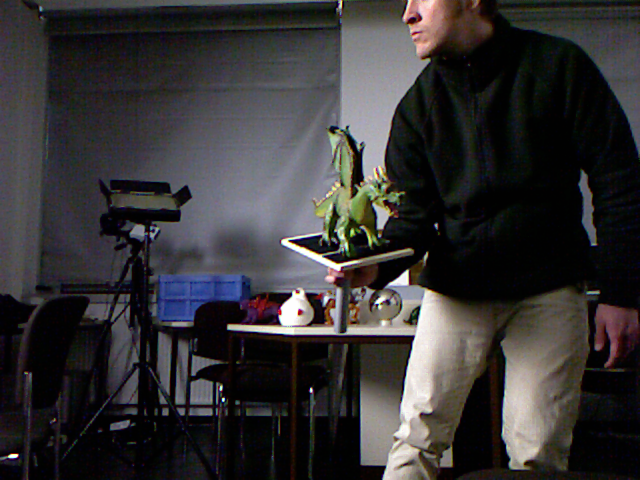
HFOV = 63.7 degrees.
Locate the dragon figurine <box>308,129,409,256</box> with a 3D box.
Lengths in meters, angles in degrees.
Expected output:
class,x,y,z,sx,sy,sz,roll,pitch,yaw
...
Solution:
class,x,y,z,sx,sy,sz,roll,pitch,yaw
dragon figurine,0.050,-0.112,1.078,0.123,0.239,0.416,-11,23,-24
